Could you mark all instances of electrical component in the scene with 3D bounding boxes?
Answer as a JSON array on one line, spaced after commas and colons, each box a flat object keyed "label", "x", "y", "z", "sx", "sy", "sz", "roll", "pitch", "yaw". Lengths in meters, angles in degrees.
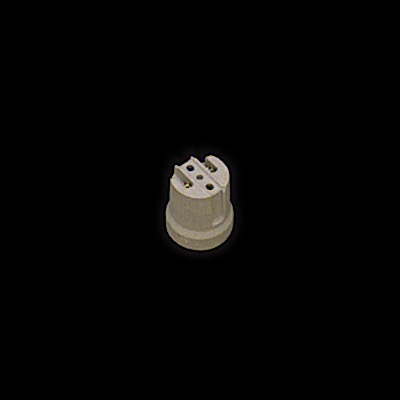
[{"label": "electrical component", "x": 0.000, "y": 0.000, "z": 0.635, "sx": 0.040, "sy": 0.040, "sz": 0.046, "roll": 0, "pitch": -37, "yaw": -1}]
